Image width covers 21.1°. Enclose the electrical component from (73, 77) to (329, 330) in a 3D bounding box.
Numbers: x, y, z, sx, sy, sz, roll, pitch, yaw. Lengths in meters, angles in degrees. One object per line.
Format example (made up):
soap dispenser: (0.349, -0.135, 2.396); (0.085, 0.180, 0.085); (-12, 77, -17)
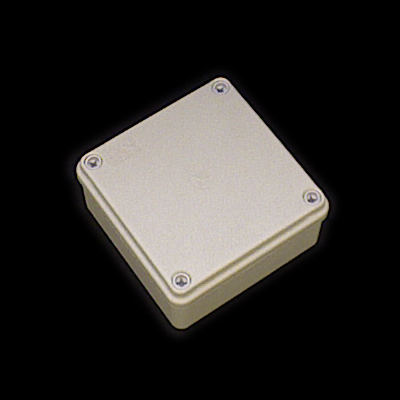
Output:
electrical component: (0.000, 0.000, 0.629); (0.109, 0.108, 0.056); (-32, -22, -15)
